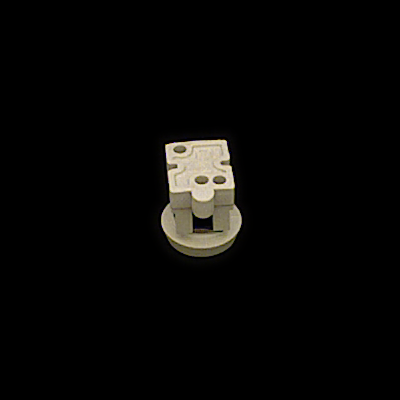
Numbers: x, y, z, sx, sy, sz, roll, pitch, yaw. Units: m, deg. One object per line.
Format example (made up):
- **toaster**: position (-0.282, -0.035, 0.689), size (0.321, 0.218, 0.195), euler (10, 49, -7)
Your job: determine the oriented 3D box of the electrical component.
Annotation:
- **electrical component**: position (0.000, 0.000, 0.640), size (0.048, 0.056, 0.066), euler (-4, 42, -3)
